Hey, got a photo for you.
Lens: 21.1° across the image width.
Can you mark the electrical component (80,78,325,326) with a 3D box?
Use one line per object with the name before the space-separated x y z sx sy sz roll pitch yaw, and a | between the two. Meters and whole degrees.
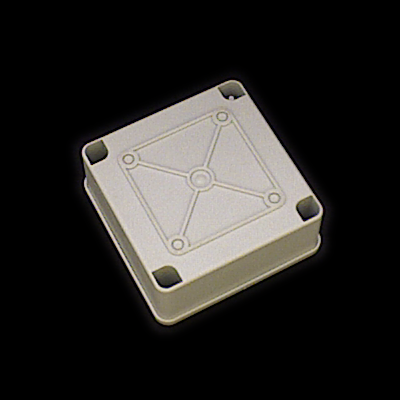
electrical component | 0.000 0.000 0.629 0.109 0.108 0.056 -25 -24 -13
